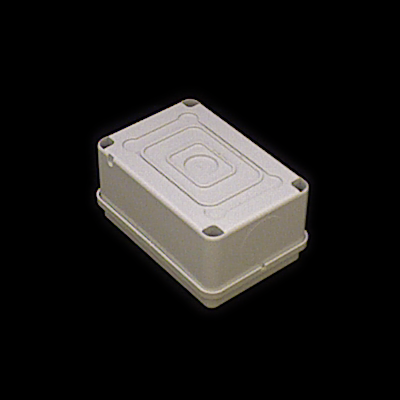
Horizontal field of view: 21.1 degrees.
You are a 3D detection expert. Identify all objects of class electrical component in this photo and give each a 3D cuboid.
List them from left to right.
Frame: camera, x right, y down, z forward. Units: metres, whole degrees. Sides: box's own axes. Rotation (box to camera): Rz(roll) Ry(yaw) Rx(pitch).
[{"bbox_3d":[0.000,0.000,0.632,0.078,0.057,0.112,-28,50,-29],"label":"electrical component"}]
